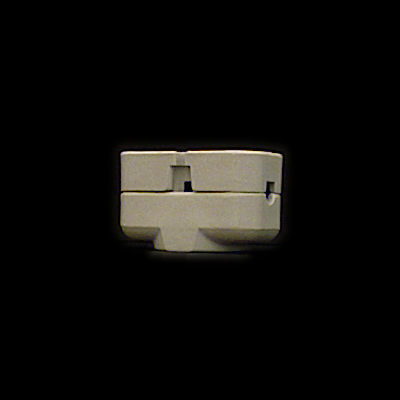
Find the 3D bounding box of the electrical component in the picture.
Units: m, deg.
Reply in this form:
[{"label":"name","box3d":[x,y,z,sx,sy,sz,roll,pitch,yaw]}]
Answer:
[{"label":"electrical component","box3d":[0.000,0.000,0.659,0.094,0.059,0.054,1,1,27]}]
